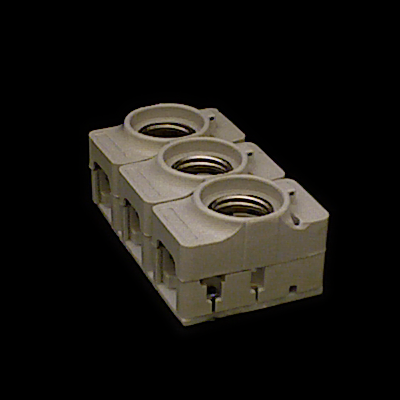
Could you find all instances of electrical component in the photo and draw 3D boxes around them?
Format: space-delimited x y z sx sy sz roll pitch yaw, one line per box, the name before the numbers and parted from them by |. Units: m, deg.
electrical component | 0.000 0.000 0.641 0.089 0.063 0.147 -12 34 -22
